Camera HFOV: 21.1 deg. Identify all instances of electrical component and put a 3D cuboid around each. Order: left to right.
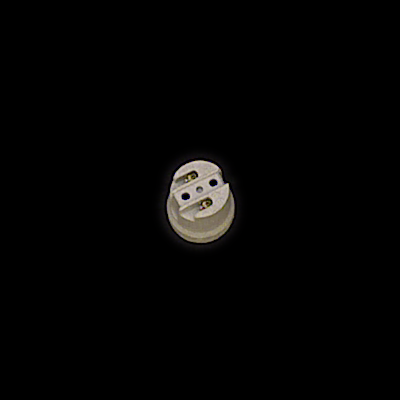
[{"bbox_3d":[0.000,0.000,0.633,0.040,0.040,0.046,0,-17,0],"label":"electrical component"}]
